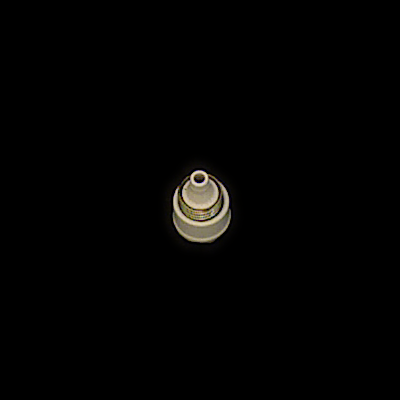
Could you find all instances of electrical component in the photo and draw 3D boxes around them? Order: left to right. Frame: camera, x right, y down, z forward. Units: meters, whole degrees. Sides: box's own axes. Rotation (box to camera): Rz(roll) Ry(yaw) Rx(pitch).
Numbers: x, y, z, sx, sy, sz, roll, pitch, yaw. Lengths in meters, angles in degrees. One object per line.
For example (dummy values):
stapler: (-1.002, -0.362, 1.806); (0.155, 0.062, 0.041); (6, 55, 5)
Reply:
electrical component: (0.000, 0.000, 0.637); (0.035, 0.035, 0.061); (0, -26, 2)
